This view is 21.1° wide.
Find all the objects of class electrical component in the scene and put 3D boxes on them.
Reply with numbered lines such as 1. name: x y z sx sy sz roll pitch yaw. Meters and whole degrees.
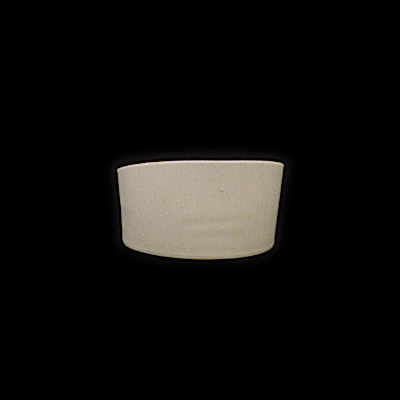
1. electrical component: 0.000 0.000 0.643 0.099 0.064 0.098 2 11 0
